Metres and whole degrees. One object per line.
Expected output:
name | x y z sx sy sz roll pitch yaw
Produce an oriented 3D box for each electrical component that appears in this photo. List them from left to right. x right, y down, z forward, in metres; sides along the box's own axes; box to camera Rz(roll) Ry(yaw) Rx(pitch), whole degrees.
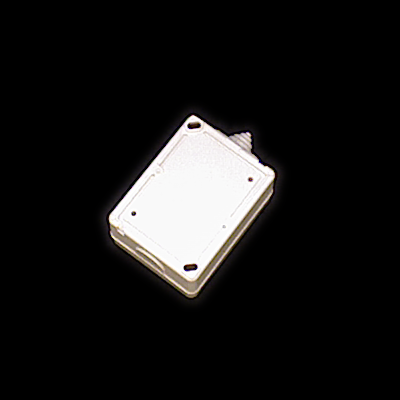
electrical component | 0.000 0.000 0.628 0.062 0.096 0.060 35 -15 10
